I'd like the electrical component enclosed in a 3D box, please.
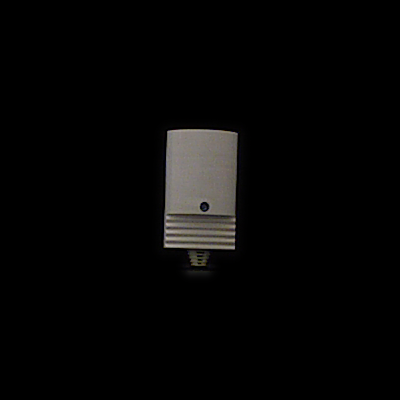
[{"bbox_3d":[0.000,0.000,0.652,0.043,0.081,0.043,2,1,0],"label":"electrical component"}]
